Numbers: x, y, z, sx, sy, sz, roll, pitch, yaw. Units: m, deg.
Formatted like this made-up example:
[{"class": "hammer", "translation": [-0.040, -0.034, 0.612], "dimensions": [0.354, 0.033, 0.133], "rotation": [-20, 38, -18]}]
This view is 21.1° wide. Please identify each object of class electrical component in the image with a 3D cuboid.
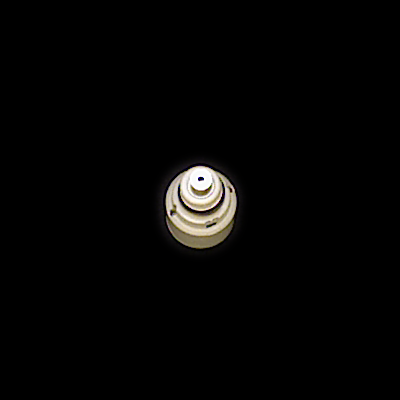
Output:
[{"class": "electrical component", "translation": [0.000, 0.000, 0.617], "dimensions": [0.040, 0.040, 0.078], "rotation": [0, -17, 0]}]
